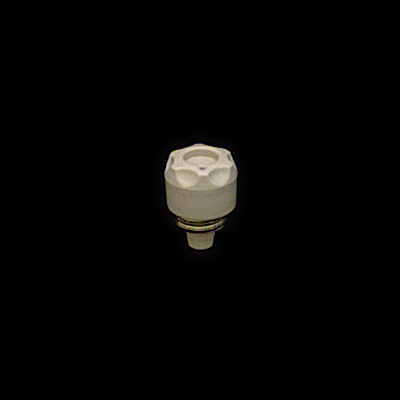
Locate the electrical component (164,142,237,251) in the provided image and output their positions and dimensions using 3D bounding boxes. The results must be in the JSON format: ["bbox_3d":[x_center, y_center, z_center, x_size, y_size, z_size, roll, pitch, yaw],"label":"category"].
[{"bbox_3d":[0.000,0.000,0.642,0.043,0.063,0.043,1,31,0],"label":"electrical component"}]
